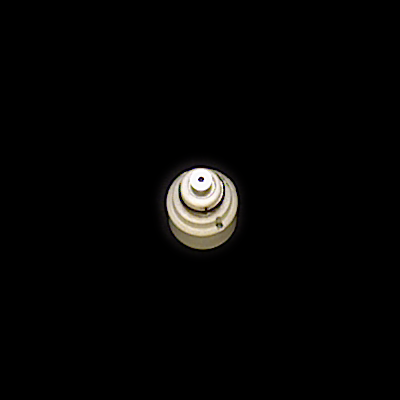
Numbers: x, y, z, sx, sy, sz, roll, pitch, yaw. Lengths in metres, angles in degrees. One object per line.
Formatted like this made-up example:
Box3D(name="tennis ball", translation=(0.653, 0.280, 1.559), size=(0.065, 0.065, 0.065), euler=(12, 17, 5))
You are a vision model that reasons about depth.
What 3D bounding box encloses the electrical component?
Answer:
Box3D(name="electrical component", translation=(0.000, 0.000, 0.617), size=(0.040, 0.040, 0.078), euler=(0, -17, 1))
